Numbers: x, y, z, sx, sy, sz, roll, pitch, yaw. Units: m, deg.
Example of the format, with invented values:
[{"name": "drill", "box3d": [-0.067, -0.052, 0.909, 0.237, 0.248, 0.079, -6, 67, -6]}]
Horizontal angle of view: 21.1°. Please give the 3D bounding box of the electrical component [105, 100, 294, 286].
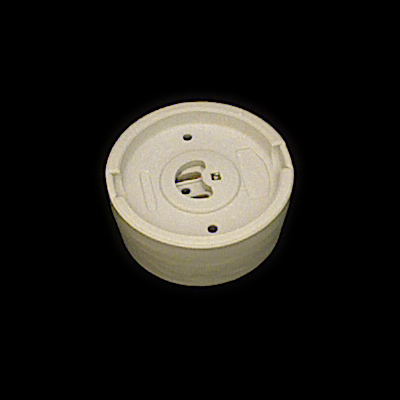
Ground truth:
[{"name": "electrical component", "box3d": [0.000, 0.000, 0.637, 0.108, 0.107, 0.061, 0, -37, 0]}]
